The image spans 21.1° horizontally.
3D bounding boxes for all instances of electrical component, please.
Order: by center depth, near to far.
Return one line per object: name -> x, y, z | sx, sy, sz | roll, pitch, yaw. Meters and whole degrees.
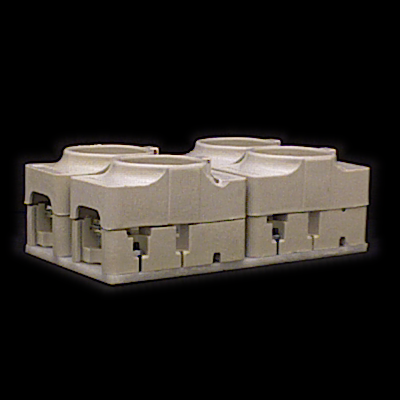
electrical component -> 0.000, 0.000, 0.645 | 0.186, 0.060, 0.104 | -5, 12, -34
